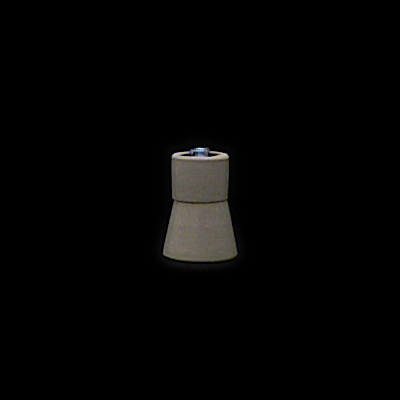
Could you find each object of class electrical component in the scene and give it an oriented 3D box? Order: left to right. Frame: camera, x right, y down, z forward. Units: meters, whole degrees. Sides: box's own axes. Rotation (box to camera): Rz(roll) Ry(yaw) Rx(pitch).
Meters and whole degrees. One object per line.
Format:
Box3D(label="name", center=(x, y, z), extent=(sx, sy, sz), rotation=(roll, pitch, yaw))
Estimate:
Box3D(label="electrical component", center=(0.000, 0.000, 0.645), extent=(0.044, 0.066, 0.044), rotation=(0, 11, 0))
